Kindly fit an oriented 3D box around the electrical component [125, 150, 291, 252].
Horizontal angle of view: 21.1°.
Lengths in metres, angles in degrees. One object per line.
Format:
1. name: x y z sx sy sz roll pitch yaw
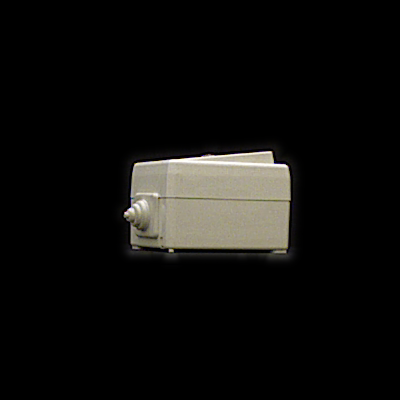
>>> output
1. electrical component: 0.000 0.000 0.649 0.096 0.061 0.061 1 0 -26
